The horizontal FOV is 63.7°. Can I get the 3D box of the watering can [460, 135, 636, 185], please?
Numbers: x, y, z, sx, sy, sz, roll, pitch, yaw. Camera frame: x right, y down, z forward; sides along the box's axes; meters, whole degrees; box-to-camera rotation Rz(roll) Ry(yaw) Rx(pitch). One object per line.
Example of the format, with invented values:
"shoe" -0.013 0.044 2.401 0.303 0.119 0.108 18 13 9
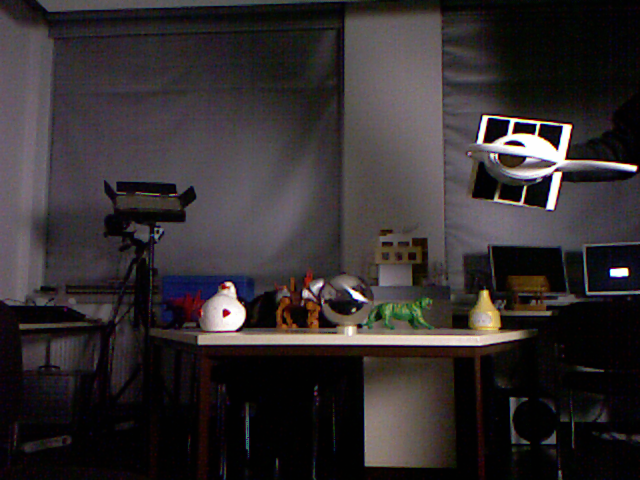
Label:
"watering can" 0.497 -0.176 1.177 0.349 0.104 0.225 11 3 13
